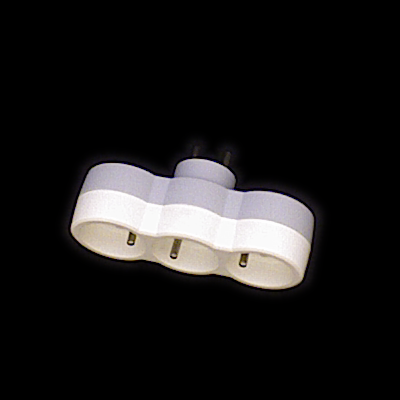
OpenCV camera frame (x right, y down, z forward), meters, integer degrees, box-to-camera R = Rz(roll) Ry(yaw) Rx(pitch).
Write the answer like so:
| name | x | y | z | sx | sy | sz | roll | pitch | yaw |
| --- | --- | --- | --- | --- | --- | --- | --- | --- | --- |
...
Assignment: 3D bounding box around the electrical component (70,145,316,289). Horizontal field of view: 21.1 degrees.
| name | x | y | z | sx | sy | sz | roll | pitch | yaw |
| --- | --- | --- | --- | --- | --- | --- | --- | --- | --- |
| electrical component | 0.000 | 0.000 | 0.631 | 0.138 | 0.074 | 0.052 | 11 | -29 | 6 |
